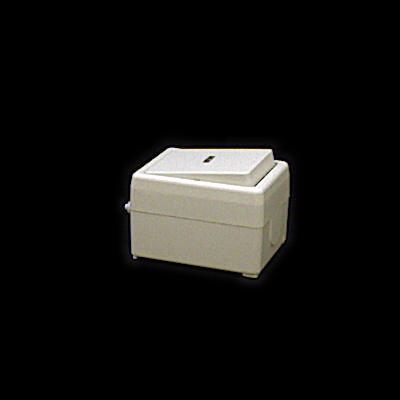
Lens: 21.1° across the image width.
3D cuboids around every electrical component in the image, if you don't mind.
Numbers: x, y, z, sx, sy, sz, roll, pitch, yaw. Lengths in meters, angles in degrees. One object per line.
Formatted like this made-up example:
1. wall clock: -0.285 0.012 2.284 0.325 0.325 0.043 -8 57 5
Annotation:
1. electrical component: 0.000 0.000 0.640 0.096 0.061 0.061 8 22 18
